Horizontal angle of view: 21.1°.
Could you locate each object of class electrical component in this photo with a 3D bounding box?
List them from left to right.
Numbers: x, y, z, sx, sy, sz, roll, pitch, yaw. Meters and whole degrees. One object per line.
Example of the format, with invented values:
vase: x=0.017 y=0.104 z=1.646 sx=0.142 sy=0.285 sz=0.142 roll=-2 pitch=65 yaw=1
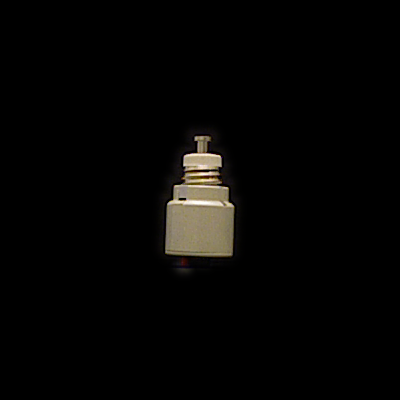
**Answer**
electrical component: x=0.000 y=0.000 z=0.651 sx=0.040 sy=0.078 sz=0.040 roll=2 pitch=2 yaw=0
